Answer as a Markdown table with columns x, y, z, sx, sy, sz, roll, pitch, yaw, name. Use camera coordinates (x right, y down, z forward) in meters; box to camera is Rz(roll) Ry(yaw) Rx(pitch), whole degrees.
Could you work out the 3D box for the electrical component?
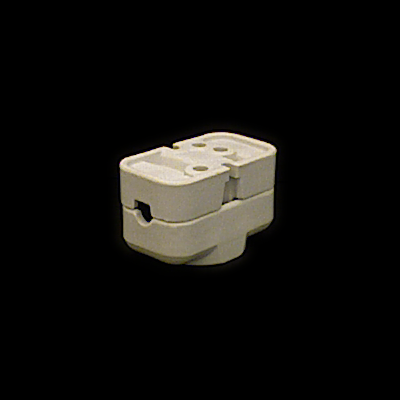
| x | y | z | sx | sy | sz | roll | pitch | yaw | name |
| --- | --- | --- | --- | --- | --- | --- | --- | --- | --- |
| 0.000 | 0.000 | 0.646 | 0.053 | 0.060 | 0.095 | 20 | 29 | 39 | electrical component |
